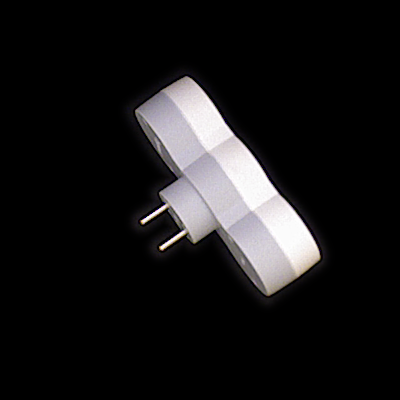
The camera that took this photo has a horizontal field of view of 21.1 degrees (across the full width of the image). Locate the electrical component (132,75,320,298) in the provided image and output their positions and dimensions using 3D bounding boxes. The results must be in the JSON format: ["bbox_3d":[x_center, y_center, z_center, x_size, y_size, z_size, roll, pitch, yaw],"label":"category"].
[{"bbox_3d":[0.000,0.000,0.630,0.074,0.138,0.052,-35,-13,-8],"label":"electrical component"}]
